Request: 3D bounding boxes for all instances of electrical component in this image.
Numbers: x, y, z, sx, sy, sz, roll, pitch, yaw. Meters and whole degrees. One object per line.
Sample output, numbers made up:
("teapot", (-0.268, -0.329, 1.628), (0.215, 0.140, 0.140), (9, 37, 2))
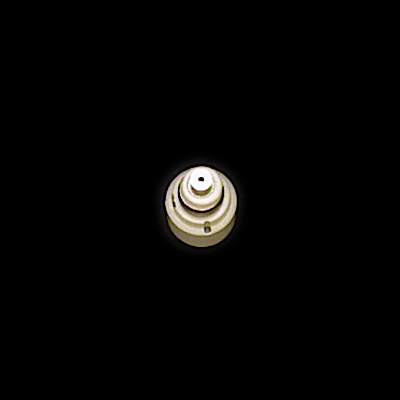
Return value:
("electrical component", (0.000, 0.000, 0.618), (0.040, 0.040, 0.078), (0, -16, 0))
